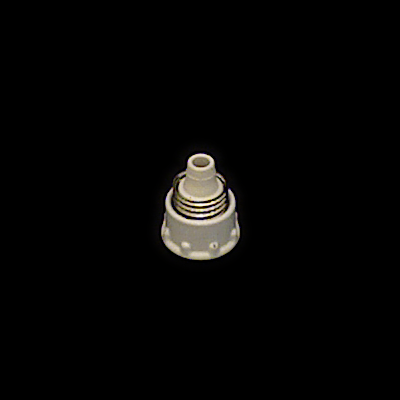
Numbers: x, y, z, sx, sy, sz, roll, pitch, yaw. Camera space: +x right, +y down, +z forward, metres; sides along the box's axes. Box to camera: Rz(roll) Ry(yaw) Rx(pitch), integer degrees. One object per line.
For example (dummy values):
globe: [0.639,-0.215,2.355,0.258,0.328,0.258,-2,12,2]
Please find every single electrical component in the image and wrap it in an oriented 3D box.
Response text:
electrical component: [0.000,0.000,0.639,0.048,0.062,0.047,1,42,0]
